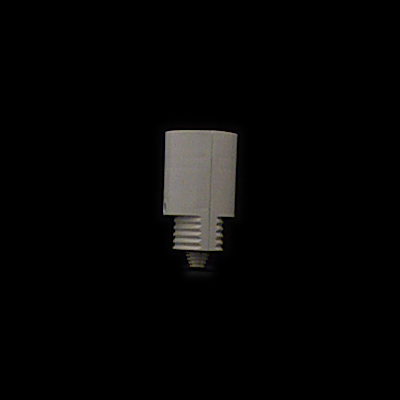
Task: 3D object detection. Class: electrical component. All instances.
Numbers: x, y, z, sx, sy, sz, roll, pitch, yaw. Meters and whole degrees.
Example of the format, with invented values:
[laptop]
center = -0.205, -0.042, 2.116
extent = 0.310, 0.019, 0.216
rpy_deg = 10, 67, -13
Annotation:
[electrical component]
center = 0.000, 0.000, 0.649
extent = 0.043, 0.081, 0.043
rpy_deg = 1, 2, 0
